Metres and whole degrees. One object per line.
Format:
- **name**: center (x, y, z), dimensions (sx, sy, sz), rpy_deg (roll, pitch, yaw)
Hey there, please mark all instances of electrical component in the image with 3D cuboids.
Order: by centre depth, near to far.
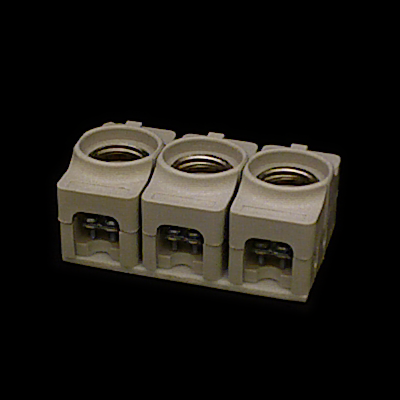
- **electrical component**: center (0.000, 0.000, 0.642), dimensions (0.150, 0.063, 0.088), rpy_deg (9, 31, 12)
